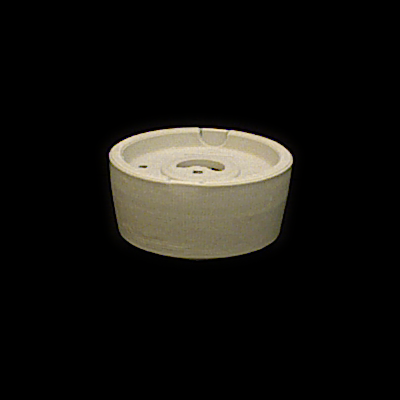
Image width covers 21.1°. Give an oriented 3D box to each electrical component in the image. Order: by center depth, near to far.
[{"bbox_3d":[0.000,0.000,0.642,0.108,0.061,0.106,1,21,0],"label":"electrical component"}]
